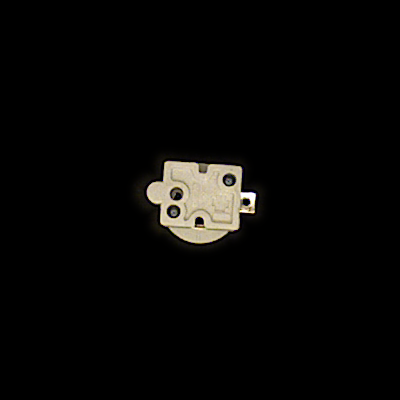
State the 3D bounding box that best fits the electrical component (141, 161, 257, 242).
[{"bbox_3d":[0.000,0.000,0.639,0.066,0.048,0.055,4,-7,0],"label":"electrical component"}]
